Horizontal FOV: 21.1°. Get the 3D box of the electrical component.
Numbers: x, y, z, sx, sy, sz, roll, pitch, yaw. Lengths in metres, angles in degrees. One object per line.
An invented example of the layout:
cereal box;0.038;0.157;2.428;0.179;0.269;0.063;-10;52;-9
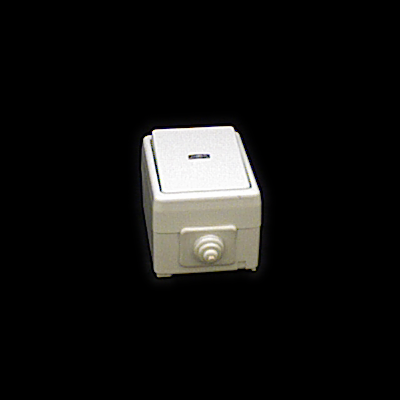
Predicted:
electrical component;0.000;0.000;0.632;0.062;0.061;0.095;-3;31;-7
